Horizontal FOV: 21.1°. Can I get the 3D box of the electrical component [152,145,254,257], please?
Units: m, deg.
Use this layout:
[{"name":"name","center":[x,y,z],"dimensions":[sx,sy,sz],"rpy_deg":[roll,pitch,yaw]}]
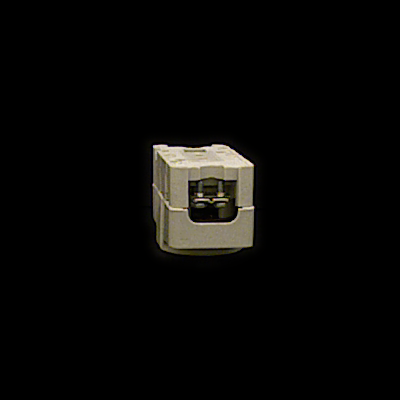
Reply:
[{"name":"electrical component","center":[0.000,0.000,0.651],"dimensions":[0.050,0.056,0.088],"rpy_deg":[-2,11,-10]}]
